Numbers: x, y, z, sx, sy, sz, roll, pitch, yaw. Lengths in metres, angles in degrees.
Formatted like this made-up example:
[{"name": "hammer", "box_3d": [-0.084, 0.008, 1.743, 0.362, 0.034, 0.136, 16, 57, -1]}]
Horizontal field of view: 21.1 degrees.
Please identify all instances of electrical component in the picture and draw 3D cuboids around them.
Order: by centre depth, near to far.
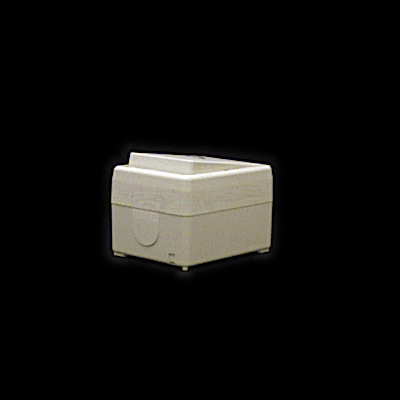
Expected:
[{"name": "electrical component", "box_3d": [0.000, 0.000, 0.646, 0.061, 0.061, 0.096, 10, 14, 40]}]
